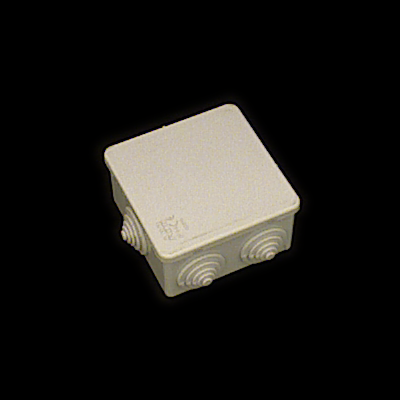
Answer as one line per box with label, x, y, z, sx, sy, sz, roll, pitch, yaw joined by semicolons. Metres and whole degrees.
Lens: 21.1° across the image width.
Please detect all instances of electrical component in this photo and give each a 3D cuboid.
electrical component;0.000;0.000;0.639;0.100;0.099;0.048;-21;-34;-16
